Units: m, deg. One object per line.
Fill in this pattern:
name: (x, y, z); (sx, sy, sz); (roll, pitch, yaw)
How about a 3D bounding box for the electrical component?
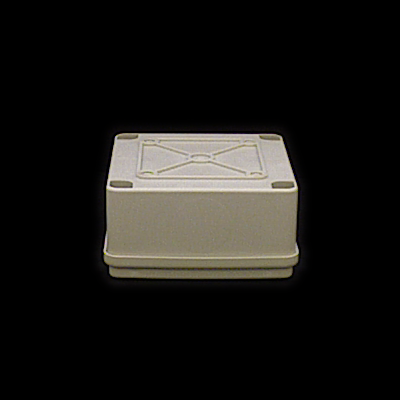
electrical component: (0.000, 0.000, 0.637); (0.109, 0.057, 0.107); (0, 21, -1)
